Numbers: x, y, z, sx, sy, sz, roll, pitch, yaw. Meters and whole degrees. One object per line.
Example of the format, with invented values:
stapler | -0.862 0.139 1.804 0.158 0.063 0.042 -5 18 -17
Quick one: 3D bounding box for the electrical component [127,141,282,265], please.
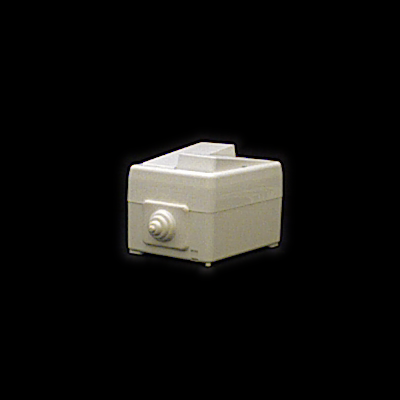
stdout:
electrical component | 0.000 0.000 0.642 0.061 0.061 0.096 8 12 35
